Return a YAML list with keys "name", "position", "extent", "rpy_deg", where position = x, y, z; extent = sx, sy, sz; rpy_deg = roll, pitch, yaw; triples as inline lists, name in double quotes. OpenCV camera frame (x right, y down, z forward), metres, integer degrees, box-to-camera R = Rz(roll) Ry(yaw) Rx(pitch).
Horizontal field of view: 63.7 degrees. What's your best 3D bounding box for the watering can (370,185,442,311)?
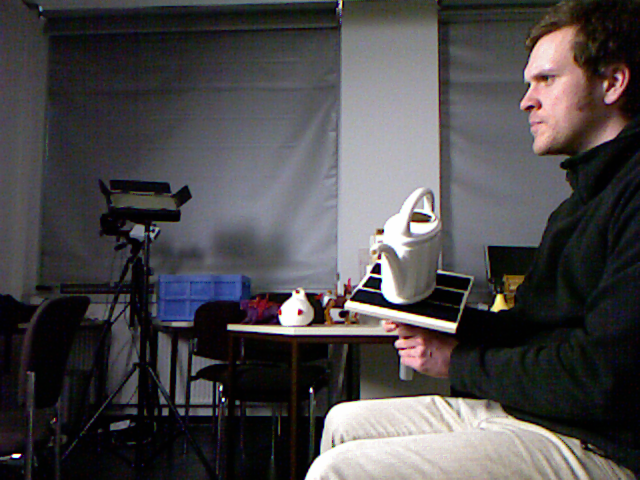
- name: "watering can"
  position: [0.152, 0.030, 0.930]
  extent: [0.104, 0.221, 0.354]
  rpy_deg: [12, 28, 24]
